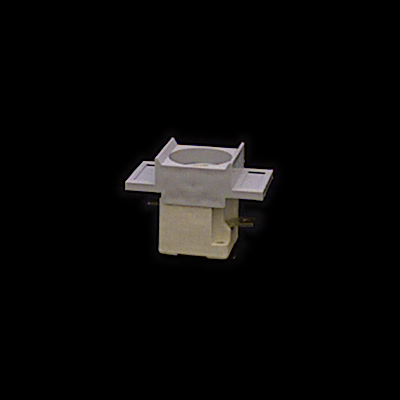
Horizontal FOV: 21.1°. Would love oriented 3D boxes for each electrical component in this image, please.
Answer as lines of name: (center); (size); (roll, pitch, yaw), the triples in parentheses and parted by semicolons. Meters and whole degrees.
electrical component: (0.000, 0.000, 0.638); (0.081, 0.064, 0.041); (5, 21, 11)
